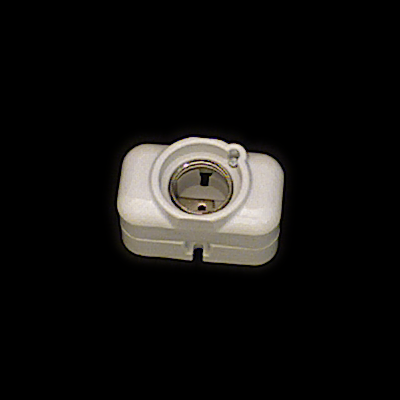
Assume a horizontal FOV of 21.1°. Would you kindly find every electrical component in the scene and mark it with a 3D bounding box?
[{"bbox_3d":[0.000,0.000,0.635,0.095,0.053,0.059,5,-26,2],"label":"electrical component"}]
